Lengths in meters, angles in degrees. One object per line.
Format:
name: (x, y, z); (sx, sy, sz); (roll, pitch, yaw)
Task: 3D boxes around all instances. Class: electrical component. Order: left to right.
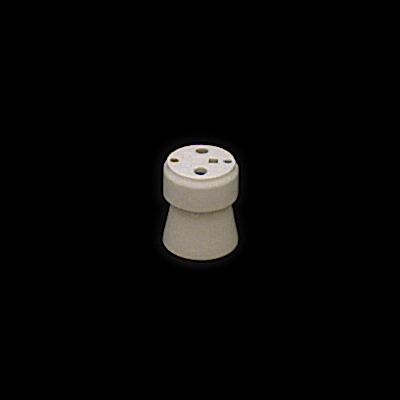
electrical component: (0.000, 0.000, 0.634); (0.045, 0.056, 0.044); (0, 32, 0)
